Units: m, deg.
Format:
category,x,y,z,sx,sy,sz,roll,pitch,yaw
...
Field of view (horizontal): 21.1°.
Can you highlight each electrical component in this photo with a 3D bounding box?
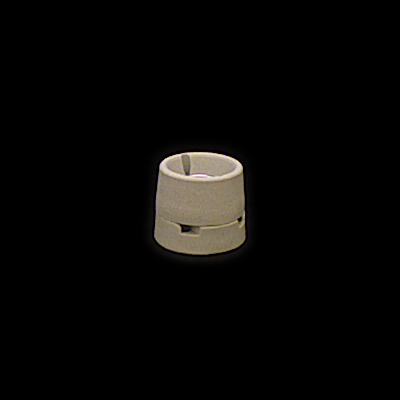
category,x,y,z,sx,sy,sz,roll,pitch,yaw
electrical component,0.000,0.000,0.640,0.055,0.047,0.055,1,22,0
